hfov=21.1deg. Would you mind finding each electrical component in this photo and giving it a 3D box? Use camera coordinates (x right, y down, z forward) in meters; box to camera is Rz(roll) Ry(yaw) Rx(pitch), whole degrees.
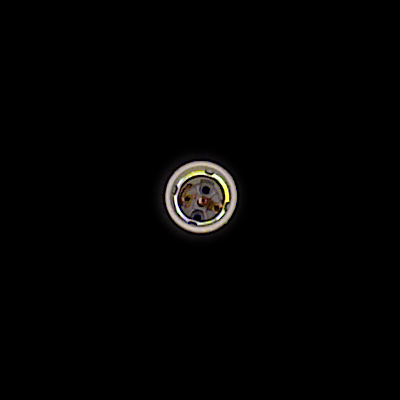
[{"bbox_3d":[0.000,0.000,0.628,0.040,0.040,0.046,0,-7,0],"label":"electrical component"}]
